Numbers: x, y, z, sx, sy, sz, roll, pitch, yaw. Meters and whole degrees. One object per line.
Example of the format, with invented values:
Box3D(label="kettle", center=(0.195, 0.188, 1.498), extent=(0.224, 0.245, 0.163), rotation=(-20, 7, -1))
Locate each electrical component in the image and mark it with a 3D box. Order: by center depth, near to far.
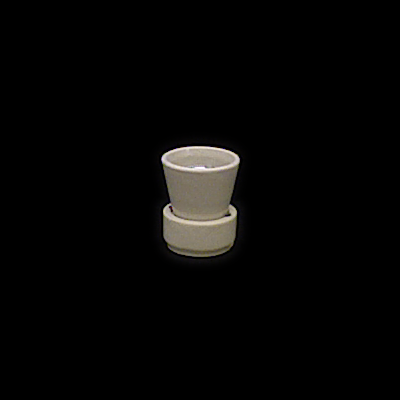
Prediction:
Box3D(label="electrical component", center=(0.000, 0.000, 0.638), extent=(0.045, 0.056, 0.044), rotation=(0, 22, 0))
